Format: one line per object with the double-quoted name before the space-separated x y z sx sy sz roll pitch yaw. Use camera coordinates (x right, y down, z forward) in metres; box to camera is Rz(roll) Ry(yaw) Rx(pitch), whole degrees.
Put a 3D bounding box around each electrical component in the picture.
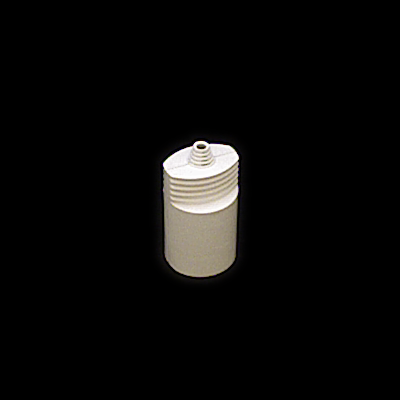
"electrical component" 0.000 0.000 0.624 0.043 0.082 0.042 1 42 0
